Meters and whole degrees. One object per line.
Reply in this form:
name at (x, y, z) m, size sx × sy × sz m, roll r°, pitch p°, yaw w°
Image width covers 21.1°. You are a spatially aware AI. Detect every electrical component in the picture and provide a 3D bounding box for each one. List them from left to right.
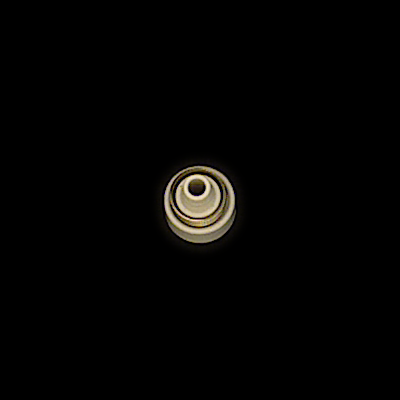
electrical component at (0.000, 0.000, 0.634) m, size 0.043 × 0.043 × 0.061 m, roll 0°, pitch -15°, yaw 2°
